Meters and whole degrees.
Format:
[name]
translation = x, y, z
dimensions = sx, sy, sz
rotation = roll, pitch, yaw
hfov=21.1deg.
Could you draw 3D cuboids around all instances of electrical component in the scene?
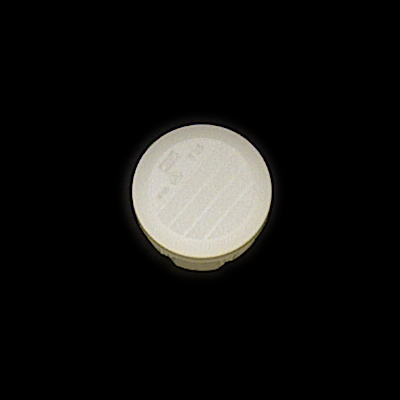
[electrical component]
translation = 0.000, 0.000, 0.630
dimensions = 0.080, 0.080, 0.050
rotation = 0, -17, 0
